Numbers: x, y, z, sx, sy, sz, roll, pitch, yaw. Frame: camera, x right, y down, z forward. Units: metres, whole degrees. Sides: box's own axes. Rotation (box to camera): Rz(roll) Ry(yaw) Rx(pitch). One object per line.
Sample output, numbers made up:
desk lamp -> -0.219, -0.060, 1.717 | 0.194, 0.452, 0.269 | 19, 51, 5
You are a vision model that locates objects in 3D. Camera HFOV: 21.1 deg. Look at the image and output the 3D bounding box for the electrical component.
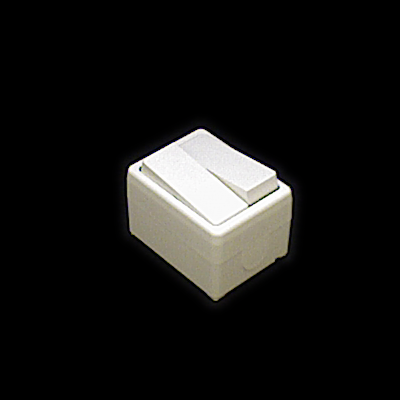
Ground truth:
electrical component -> 0.000, 0.000, 0.632 | 0.062, 0.061, 0.095 | -31, 51, -30
